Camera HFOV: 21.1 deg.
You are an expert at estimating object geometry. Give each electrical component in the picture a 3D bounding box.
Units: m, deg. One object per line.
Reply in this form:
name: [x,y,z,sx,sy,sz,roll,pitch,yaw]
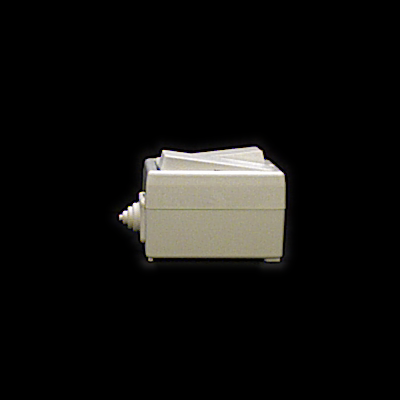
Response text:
electrical component: [0.000,0.000,0.644,0.096,0.061,0.061,1,10,-5]
